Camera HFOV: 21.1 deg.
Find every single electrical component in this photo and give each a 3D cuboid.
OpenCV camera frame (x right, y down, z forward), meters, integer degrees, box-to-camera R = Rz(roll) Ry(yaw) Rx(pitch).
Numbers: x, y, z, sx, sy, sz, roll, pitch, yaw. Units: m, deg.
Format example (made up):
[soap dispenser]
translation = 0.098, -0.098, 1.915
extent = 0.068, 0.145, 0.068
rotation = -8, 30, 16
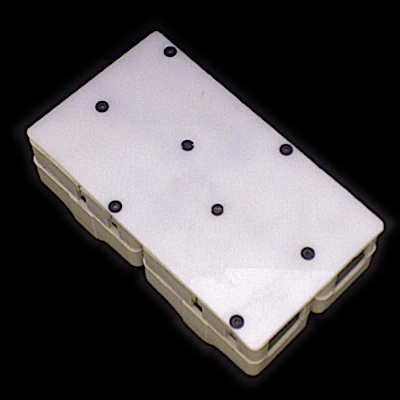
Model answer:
[electrical component]
translation = 0.000, 0.000, 0.625
extent = 0.106, 0.186, 0.060
rotation = -41, -20, -19
